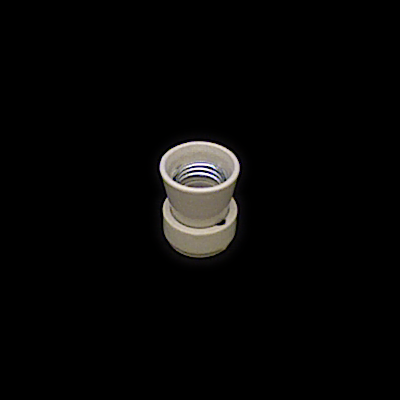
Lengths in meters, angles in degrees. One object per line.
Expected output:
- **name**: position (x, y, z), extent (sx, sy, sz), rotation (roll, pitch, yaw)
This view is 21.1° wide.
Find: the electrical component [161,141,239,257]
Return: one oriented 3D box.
- **electrical component**: position (0.000, 0.000, 0.630), extent (0.045, 0.055, 0.044), rotation (0, 42, 0)
